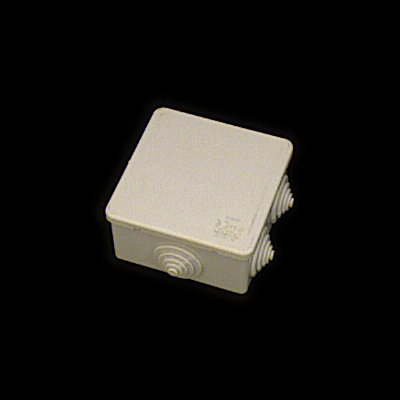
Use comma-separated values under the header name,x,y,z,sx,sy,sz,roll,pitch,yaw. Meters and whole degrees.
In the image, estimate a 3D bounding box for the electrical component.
name,x,y,z,sx,sy,sz,roll,pitch,yaw
electrical component,0.000,0.000,0.640,0.099,0.100,0.048,16,-35,11
